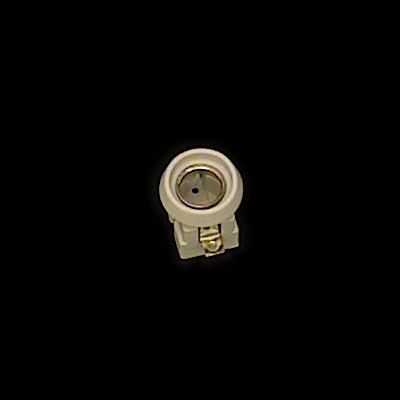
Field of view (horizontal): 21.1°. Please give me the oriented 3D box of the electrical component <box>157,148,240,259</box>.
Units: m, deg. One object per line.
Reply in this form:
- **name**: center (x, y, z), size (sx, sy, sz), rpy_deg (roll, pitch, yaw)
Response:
- **electrical component**: center (0.000, 0.000, 0.637), size (0.048, 0.066, 0.055), rpy_deg (-16, -25, -5)
